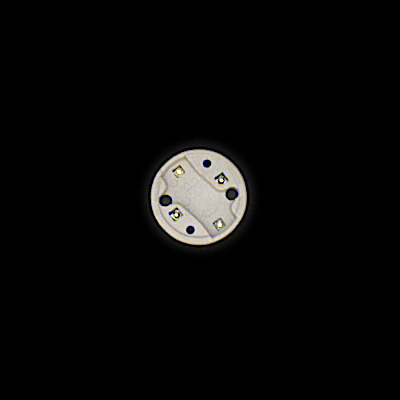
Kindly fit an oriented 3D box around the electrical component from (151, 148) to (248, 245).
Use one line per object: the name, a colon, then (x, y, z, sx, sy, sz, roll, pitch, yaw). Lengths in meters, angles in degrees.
electrical component: (0.000, 0.000, 0.636, 0.055, 0.055, 0.047, 0, -6, 0)
